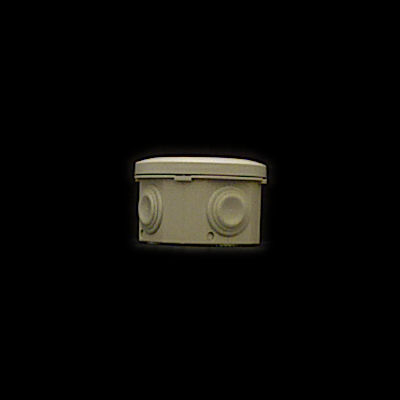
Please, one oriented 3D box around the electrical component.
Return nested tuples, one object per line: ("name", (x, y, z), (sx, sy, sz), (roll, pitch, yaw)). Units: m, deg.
("electrical component", (0.000, 0.000, 0.652), (0.080, 0.051, 0.080), (1, 0, 0))
